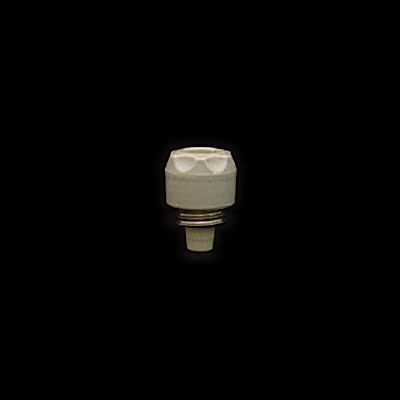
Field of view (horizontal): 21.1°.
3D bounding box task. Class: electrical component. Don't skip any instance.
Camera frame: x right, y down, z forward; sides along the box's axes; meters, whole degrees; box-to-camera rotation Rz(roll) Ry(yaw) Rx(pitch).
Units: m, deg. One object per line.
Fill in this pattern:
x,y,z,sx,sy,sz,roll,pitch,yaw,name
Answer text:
0.000,0.000,0.650,0.043,0.062,0.043,1,13,0,electrical component
